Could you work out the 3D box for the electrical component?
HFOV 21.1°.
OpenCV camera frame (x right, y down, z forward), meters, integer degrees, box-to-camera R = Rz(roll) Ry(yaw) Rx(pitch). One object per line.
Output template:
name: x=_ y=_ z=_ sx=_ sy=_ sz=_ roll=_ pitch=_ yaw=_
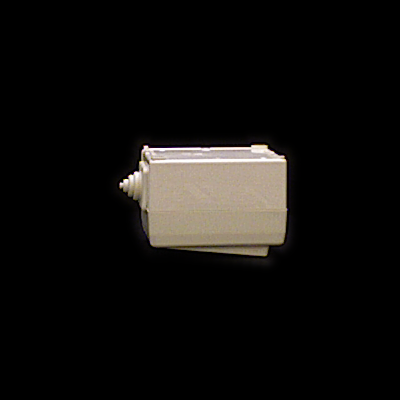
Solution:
electrical component: x=0.000 y=0.000 z=0.647 sx=0.096 sy=0.061 sz=0.061 roll=-1 pitch=11 yaw=-8
